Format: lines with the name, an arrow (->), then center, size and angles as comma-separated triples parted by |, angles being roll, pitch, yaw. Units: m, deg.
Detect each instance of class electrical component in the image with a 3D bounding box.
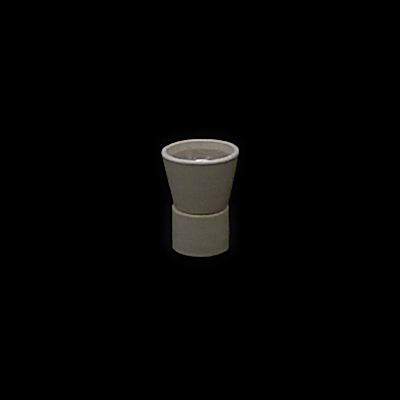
electrical component -> 0.000, 0.000, 0.637 | 0.044, 0.066, 0.044 | 0, 22, 0
